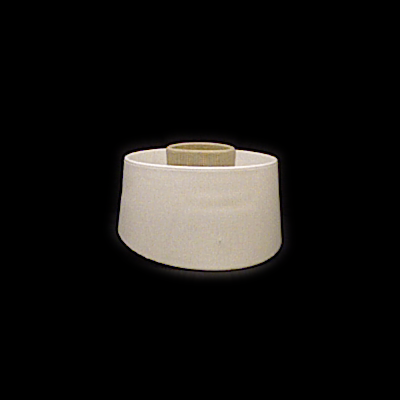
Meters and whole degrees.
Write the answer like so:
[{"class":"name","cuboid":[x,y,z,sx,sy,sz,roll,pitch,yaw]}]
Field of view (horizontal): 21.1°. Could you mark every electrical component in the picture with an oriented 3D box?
[{"class":"electrical component","cuboid":[0.000,0.000,0.644,0.099,0.064,0.098,1,11,0]}]
